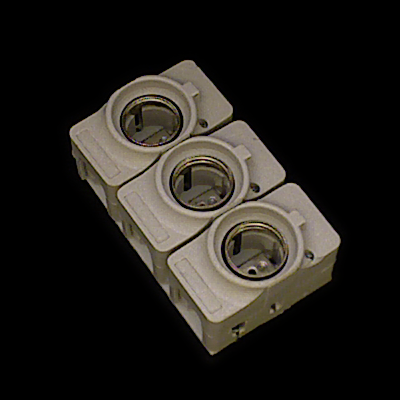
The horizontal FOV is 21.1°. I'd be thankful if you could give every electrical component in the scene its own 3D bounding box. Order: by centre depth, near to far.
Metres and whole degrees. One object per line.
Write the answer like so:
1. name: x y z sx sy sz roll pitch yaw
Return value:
1. electrical component: 0.000 0.000 0.632 0.089 0.149 0.062 -32 -22 -16
